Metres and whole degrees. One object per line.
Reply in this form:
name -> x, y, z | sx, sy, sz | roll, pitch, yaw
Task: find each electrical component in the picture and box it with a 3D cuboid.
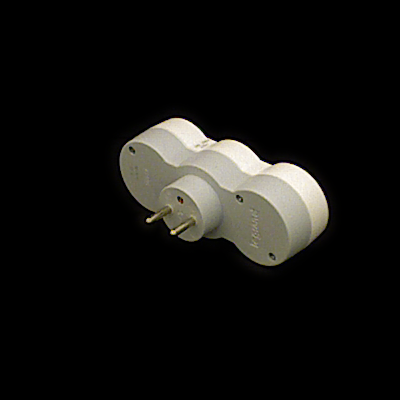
electrical component -> 0.000, 0.000, 0.642 | 0.136, 0.053, 0.074 | 25, 41, 33
